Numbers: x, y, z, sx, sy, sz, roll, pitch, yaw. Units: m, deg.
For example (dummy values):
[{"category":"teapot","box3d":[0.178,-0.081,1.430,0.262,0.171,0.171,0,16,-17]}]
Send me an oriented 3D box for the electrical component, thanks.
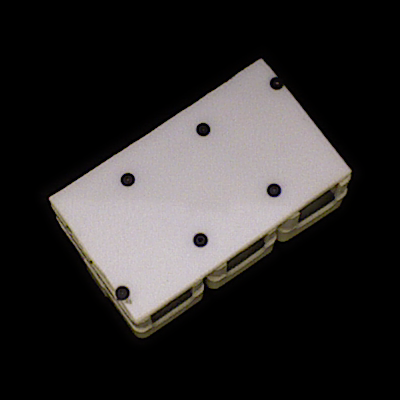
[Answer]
[{"category":"electrical component","box3d":[0.000,0.000,0.631,0.150,0.089,0.062,-34,-14,-10]}]
